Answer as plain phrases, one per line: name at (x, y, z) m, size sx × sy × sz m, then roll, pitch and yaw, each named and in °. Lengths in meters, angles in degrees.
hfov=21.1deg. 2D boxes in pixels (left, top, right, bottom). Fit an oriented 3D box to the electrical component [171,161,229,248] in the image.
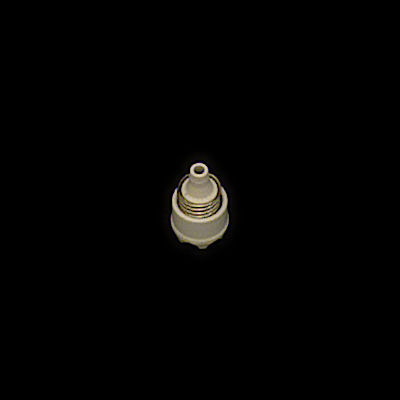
electrical component at (0.000, 0.000, 0.640) m, size 0.035 × 0.035 × 0.062 m, roll 0°, pitch -36°, yaw 1°
